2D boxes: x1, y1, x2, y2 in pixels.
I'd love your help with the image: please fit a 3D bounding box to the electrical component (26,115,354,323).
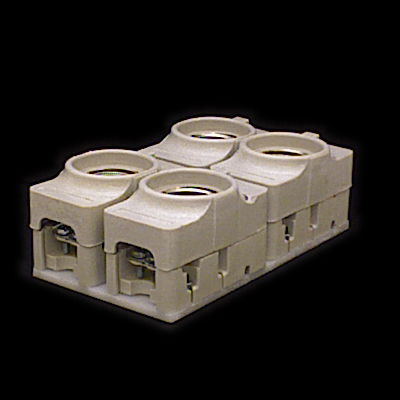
[{"bbox_3d":[0.000,0.000,0.639,0.104,0.061,0.185,16,25,35],"label":"electrical component"}]
